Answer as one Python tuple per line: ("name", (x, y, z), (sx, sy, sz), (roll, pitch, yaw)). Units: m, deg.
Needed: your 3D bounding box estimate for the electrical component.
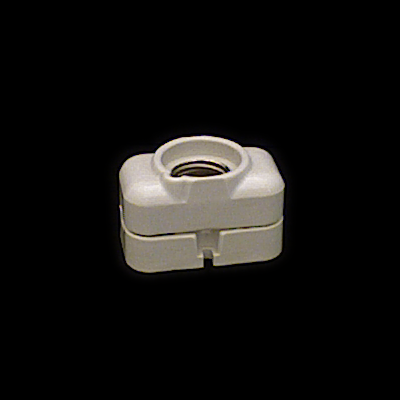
("electrical component", (0.000, 0.000, 0.640), (0.095, 0.060, 0.053), (-5, 32, -9))
